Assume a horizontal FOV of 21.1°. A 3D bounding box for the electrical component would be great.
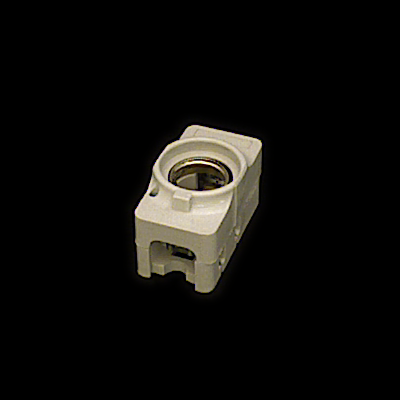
[{"bbox_3d":[0.000,0.000,0.639,0.050,0.056,0.089,14,44,15],"label":"electrical component"}]
